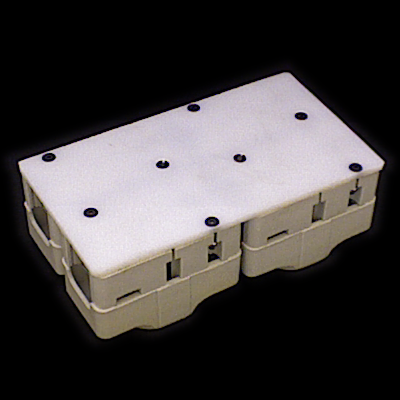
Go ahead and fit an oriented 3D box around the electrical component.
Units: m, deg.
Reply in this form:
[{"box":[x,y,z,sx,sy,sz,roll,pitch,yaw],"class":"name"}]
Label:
[{"box":[0.000,0.000,0.630,0.186,0.061,0.104,-20,46,-22],"class":"electrical component"}]
